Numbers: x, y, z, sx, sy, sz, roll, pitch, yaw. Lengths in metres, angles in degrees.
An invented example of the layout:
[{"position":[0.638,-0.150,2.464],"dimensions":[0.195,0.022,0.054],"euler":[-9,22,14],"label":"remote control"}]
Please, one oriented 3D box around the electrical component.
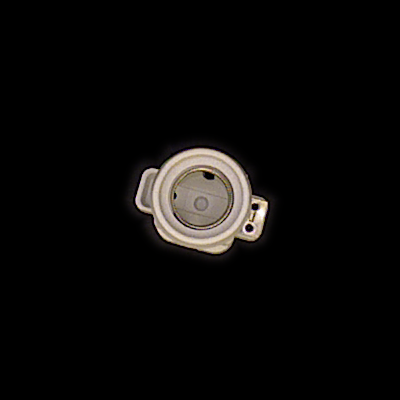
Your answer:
[{"position":[0.000,0.000,0.630],"dimensions":[0.078,0.058,0.056],"euler":[15,-6,2],"label":"electrical component"}]
